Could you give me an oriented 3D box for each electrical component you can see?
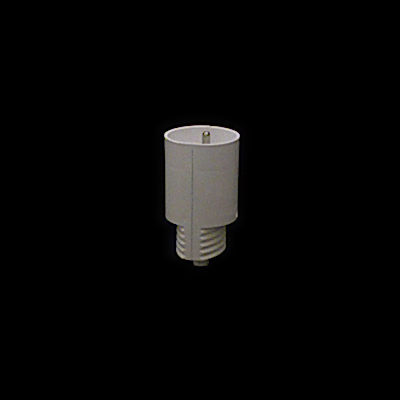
[{"bbox_3d":[0.000,0.000,0.636,0.043,0.082,0.042,2,21,0],"label":"electrical component"}]
